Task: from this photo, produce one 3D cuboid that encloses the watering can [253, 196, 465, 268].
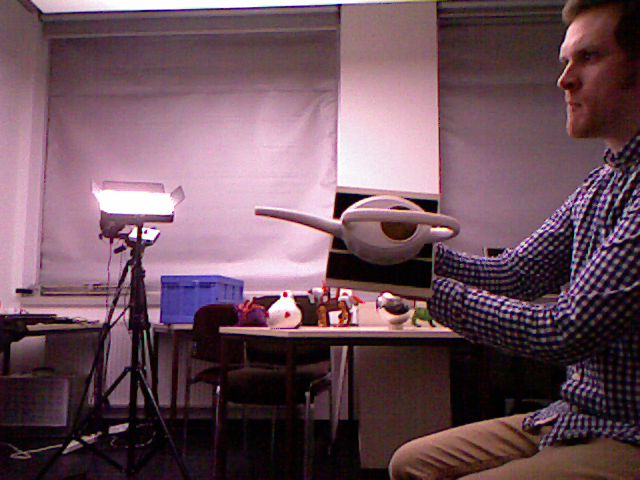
[{"bbox_3d":[0.070,-0.019,0.907,0.349,0.106,0.222,4,-13,4],"label":"watering can"}]
